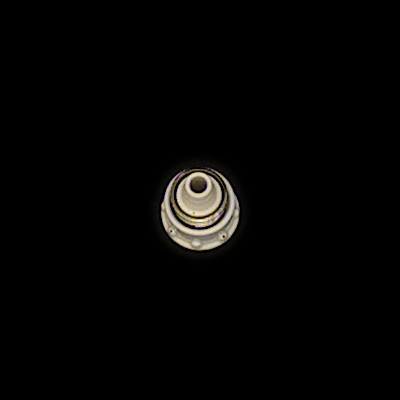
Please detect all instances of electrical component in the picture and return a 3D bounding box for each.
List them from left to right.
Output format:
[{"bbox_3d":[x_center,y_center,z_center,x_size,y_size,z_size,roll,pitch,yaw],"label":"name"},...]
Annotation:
[{"bbox_3d":[0.000,0.000,0.634,0.048,0.048,0.061,0,-17,0],"label":"electrical component"}]
